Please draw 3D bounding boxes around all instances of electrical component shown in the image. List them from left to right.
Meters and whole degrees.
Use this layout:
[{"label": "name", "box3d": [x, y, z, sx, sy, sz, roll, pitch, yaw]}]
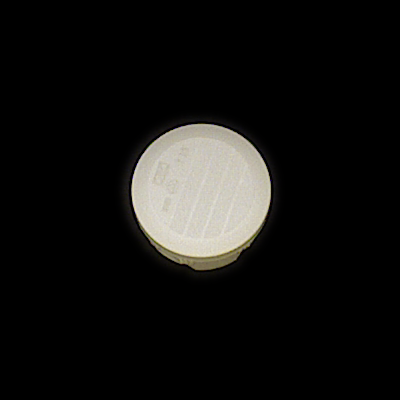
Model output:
[{"label": "electrical component", "box3d": [0.000, 0.000, 0.631, 0.080, 0.080, 0.050, 0, -17, 0]}]
